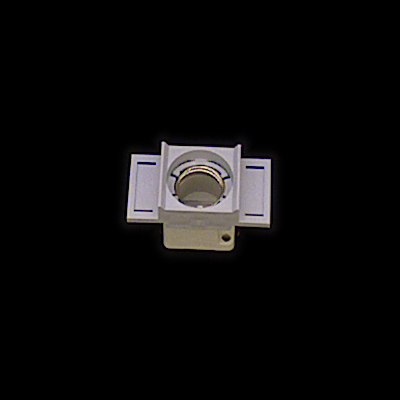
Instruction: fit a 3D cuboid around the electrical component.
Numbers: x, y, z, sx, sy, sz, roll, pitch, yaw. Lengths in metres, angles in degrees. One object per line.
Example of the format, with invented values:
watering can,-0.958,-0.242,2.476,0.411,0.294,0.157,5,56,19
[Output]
electrical component,0.000,0.000,0.624,0.081,0.042,0.063,2,-26,0
